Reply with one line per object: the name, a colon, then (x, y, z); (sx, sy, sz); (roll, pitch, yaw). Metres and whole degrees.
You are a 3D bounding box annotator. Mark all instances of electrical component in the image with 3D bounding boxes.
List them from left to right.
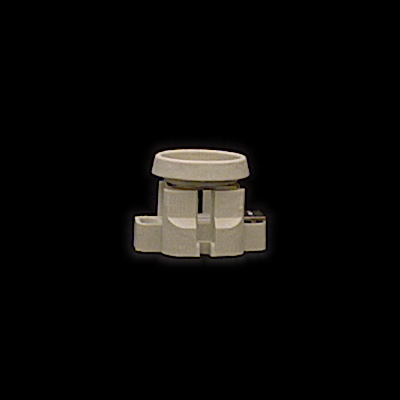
electrical component: (0.000, 0.000, 0.645); (0.078, 0.057, 0.057); (0, 11, -8)
